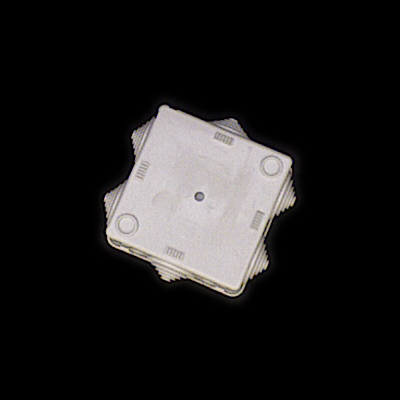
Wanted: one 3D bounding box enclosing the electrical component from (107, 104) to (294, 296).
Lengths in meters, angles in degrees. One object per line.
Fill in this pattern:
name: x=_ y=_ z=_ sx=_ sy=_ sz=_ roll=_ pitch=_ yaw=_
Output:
electrical component: x=0.000 y=0.000 z=0.633 sx=0.100 sy=0.100 sz=0.048 roll=23 pitch=-6 yaw=2
